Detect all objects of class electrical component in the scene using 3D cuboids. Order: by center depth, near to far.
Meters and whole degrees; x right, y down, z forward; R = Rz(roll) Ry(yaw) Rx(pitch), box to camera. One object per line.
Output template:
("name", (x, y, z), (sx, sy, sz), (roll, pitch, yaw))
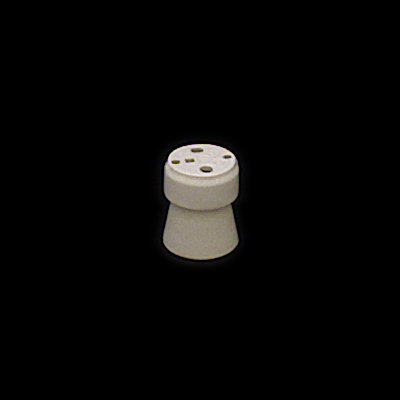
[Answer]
("electrical component", (0.000, 0.000, 0.637), (0.045, 0.056, 0.044), (1, 32, 0))
